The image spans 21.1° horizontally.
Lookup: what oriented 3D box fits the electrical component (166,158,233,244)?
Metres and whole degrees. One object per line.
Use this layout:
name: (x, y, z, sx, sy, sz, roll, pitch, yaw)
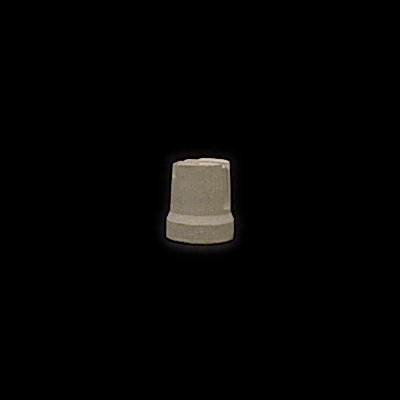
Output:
electrical component: (0.000, 0.000, 0.647, 0.040, 0.046, 0.040, 2, 11, 0)
